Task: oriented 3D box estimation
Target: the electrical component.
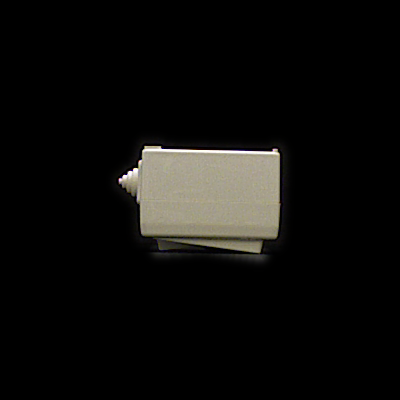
[{"bbox_3d":[-0.001,0.000,0.647,0.096,0.061,0.061,2,1,0],"label":"electrical component"}]
